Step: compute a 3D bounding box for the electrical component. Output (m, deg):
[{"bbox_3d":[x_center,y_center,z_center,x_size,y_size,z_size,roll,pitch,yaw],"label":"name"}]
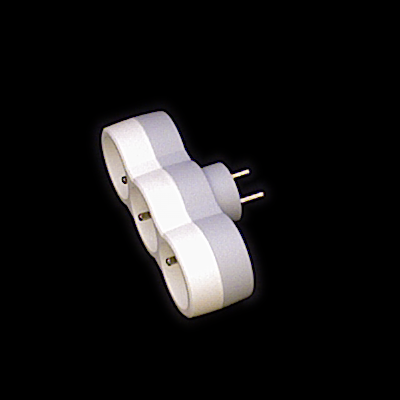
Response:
[{"bbox_3d":[0.000,0.000,0.633,0.074,0.137,0.052,-19,-36,-17],"label":"electrical component"}]
